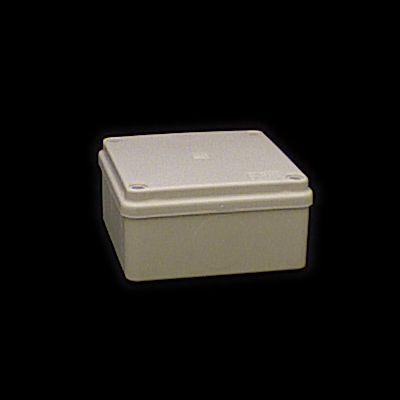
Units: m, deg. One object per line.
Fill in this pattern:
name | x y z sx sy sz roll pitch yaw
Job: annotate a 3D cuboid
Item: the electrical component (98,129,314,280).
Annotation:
electrical component | 0.000 0.000 0.641 0.109 0.057 0.107 -4 21 -12
